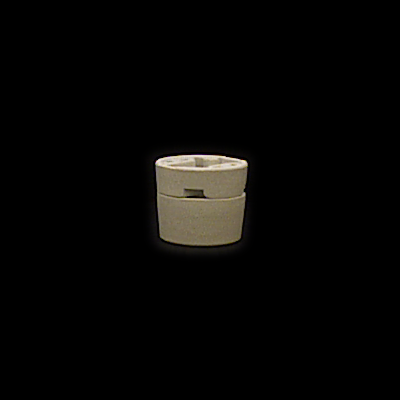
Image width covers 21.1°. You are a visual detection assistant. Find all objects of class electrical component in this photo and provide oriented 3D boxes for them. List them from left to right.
[{"bbox_3d":[0.000,0.000,0.644,0.055,0.047,0.055,1,10,0],"label":"electrical component"}]
